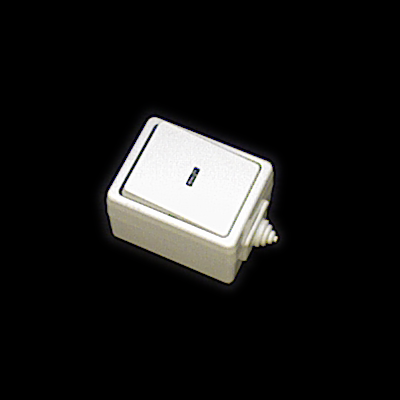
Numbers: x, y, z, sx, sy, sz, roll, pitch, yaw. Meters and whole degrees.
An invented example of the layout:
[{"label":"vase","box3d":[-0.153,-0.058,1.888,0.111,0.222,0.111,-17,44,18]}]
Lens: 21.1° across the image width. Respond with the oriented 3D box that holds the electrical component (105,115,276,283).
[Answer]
[{"label":"electrical component","box3d":[0.000,0.000,0.625,0.096,0.062,0.061,22,-25,11]}]
